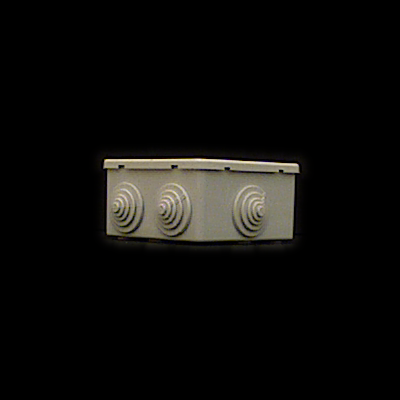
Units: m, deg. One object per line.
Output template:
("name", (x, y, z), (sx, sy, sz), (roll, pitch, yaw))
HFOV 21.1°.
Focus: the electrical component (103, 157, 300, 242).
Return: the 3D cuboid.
("electrical component", (0.000, 0.000, 0.658), (0.100, 0.048, 0.098), (0, 2, -45))
